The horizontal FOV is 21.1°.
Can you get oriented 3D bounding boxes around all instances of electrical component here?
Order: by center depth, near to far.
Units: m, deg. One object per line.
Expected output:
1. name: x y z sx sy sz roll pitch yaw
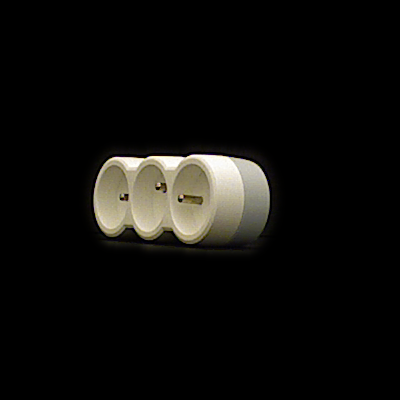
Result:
1. electrical component: 0.000 0.000 0.657 0.074 0.052 0.137 2 0 -35
